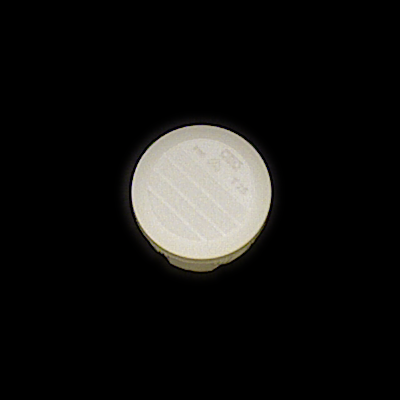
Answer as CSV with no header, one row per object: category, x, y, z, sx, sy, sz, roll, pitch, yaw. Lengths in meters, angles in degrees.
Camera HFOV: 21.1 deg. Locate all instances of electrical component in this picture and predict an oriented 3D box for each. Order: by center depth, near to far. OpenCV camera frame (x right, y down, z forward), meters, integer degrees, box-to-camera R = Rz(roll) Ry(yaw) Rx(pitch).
electrical component,0.000,0.000,0.629,0.080,0.080,0.050,0,-17,0
